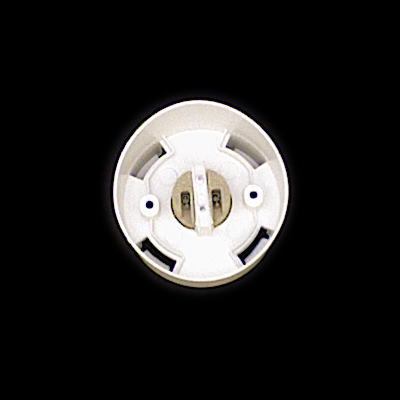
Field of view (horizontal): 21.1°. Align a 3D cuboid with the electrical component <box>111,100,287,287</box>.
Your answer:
[{"bbox_3d":[0.000,0.000,0.623,0.099,0.099,0.064,0,-18,1],"label":"electrical component"}]
